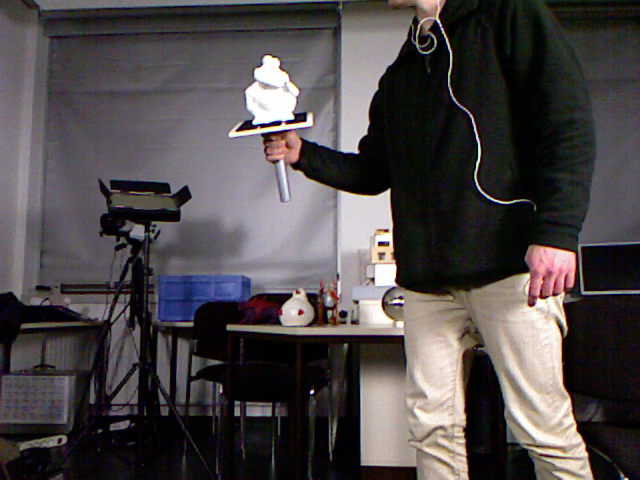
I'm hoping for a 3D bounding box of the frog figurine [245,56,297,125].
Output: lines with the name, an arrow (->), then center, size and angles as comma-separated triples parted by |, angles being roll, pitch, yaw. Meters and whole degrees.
frog figurine -> -0.128, -0.382, 1.305 | 0.137, 0.157, 0.125 | 1, 21, 21
